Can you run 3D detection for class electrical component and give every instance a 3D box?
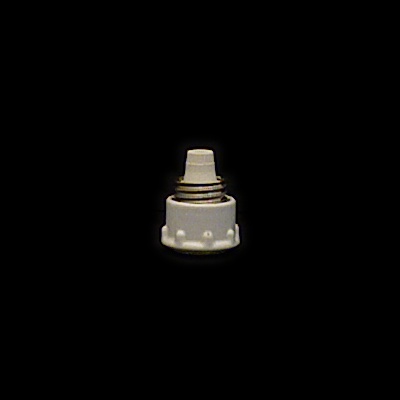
[{"bbox_3d":[0.000,0.000,0.650,0.048,0.062,0.048,0,11,1],"label":"electrical component"}]
